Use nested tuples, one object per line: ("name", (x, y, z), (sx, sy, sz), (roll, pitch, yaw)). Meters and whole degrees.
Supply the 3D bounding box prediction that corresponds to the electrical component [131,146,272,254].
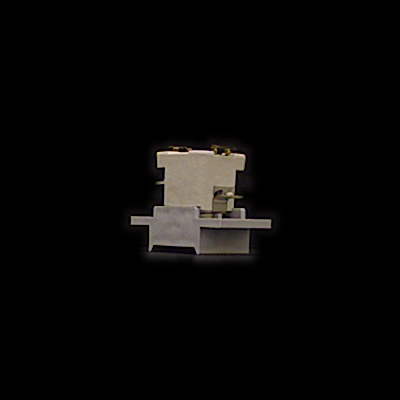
("electrical component", (0.000, 0.000, 0.650), (0.042, 0.064, 0.080), (0, 1, -44))
